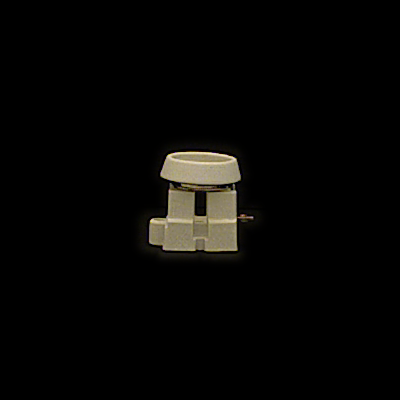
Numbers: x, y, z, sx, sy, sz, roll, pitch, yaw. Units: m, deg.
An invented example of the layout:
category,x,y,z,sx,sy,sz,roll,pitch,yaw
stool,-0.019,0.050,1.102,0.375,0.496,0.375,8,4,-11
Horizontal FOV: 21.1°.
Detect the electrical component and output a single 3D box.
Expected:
category,x,y,z,sx,sy,sz,roll,pitch,yaw
electrical component,0.000,0.000,0.652,0.066,0.056,0.048,1,14,-2
